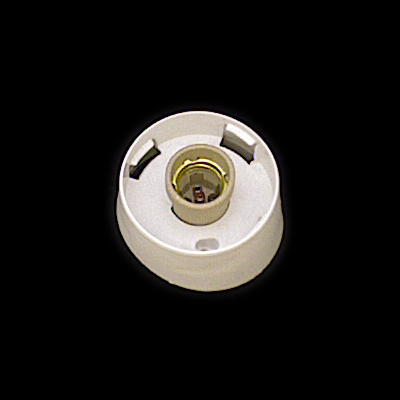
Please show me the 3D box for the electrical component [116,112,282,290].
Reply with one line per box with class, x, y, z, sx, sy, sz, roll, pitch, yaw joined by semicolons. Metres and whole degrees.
electrical component;0.000;0.000;0.625;0.099;0.099;0.064;0;-27;-1
